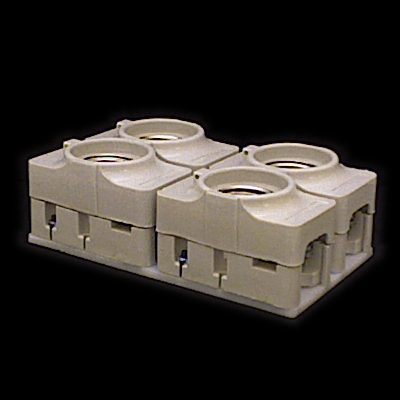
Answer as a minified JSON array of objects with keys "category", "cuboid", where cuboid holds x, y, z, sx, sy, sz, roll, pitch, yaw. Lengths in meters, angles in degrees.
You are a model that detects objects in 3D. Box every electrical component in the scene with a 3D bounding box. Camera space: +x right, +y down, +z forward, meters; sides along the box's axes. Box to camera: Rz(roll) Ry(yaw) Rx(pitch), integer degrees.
[{"category":"electrical component","cuboid":[0.000,0.000,0.638,0.185,0.061,0.105,13,24,30]}]
